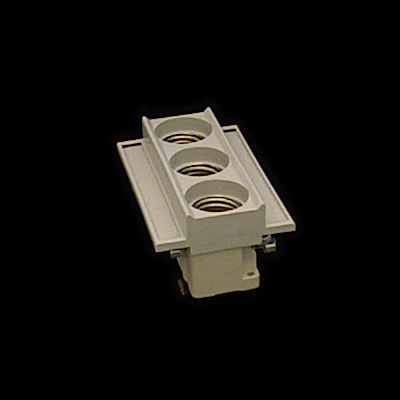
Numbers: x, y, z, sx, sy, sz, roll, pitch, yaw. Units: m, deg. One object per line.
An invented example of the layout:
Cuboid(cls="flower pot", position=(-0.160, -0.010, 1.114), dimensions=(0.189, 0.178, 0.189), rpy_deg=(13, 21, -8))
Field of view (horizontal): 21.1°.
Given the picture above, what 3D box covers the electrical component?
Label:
Cuboid(cls="electrical component", position=(0.000, 0.000, 0.645), dimensions=(0.079, 0.064, 0.119), rpy_deg=(-8, 33, -11))
